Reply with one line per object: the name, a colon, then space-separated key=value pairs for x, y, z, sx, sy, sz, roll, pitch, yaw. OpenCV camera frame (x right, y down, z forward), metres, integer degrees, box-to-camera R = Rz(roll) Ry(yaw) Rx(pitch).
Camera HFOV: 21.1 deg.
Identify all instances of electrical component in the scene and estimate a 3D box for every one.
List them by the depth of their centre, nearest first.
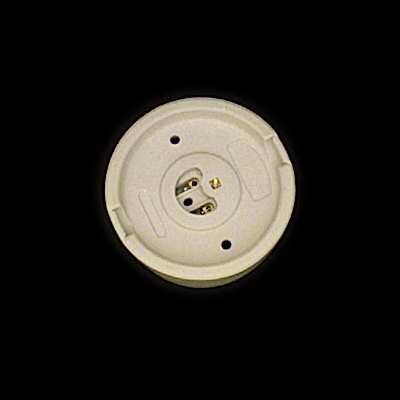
electrical component: x=0.000 y=0.000 z=0.635 sx=0.108 sy=0.108 sz=0.060 roll=0 pitch=-16 yaw=1
